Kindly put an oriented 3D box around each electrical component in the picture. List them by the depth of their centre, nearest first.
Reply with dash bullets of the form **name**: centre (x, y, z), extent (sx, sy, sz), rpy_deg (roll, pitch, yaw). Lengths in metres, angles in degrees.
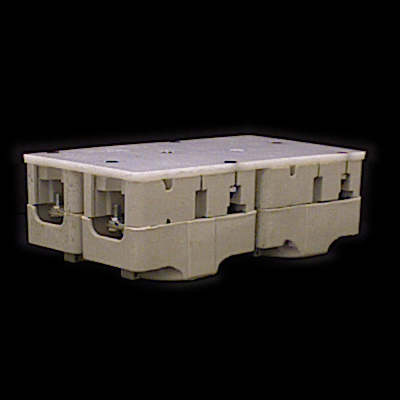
- **electrical component**: centre (0.000, 0.000, 0.644), extent (0.186, 0.061, 0.104), rpy_deg (-7, 13, -42)
